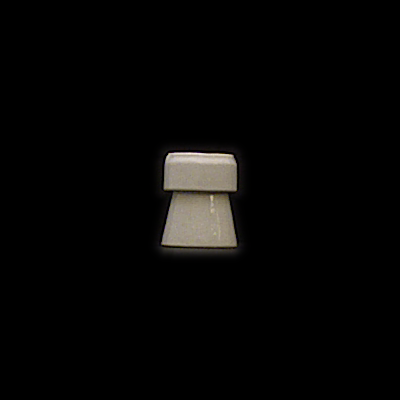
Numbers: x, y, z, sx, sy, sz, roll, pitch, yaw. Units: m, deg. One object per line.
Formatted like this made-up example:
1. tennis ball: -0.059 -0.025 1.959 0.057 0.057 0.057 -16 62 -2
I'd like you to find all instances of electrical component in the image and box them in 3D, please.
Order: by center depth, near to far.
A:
1. electrical component: 0.000 0.000 0.648 0.045 0.055 0.044 1 1 0
